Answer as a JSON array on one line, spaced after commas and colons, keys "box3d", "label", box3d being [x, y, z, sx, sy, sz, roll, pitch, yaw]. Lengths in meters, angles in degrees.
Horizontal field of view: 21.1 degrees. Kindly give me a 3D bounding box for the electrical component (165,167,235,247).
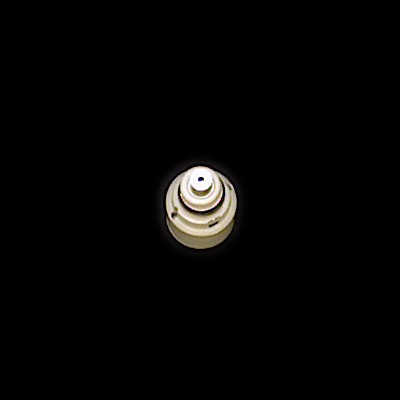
[{"box3d": [0.000, 0.000, 0.617, 0.040, 0.040, 0.078, 0, -17, 0], "label": "electrical component"}]
